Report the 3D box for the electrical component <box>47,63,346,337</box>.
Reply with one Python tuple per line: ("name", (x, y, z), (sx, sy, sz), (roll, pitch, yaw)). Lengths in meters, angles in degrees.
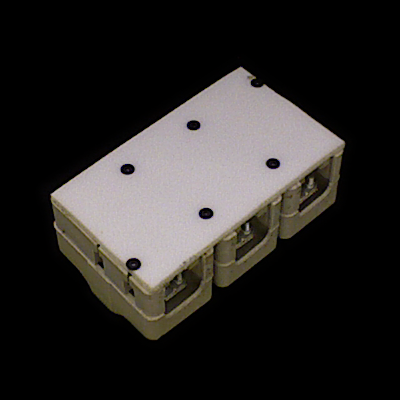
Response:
("electrical component", (0.000, 0.000, 0.631), (0.149, 0.062, 0.089), (-36, 60, -24))
